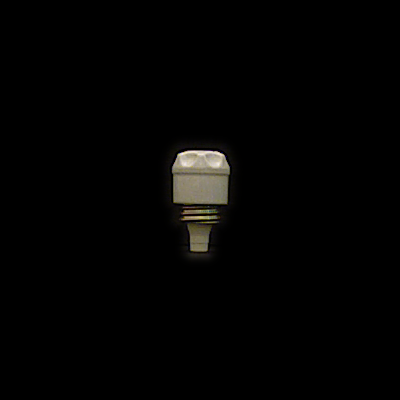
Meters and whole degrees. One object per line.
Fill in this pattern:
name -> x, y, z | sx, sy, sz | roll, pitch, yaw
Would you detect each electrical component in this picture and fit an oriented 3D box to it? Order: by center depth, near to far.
electrical component -> 0.000, 0.000, 0.655 | 0.035, 0.061, 0.035 | 1, 2, 0
